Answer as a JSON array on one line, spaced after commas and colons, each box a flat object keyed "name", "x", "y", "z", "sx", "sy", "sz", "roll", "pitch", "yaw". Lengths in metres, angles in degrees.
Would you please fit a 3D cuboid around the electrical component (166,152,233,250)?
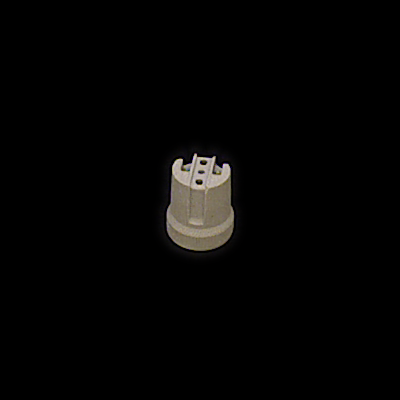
[{"name": "electrical component", "x": 0.000, "y": 0.000, "z": 0.636, "sx": 0.040, "sy": 0.046, "sz": 0.040, "roll": 1, "pitch": 43, "yaw": -1}]
